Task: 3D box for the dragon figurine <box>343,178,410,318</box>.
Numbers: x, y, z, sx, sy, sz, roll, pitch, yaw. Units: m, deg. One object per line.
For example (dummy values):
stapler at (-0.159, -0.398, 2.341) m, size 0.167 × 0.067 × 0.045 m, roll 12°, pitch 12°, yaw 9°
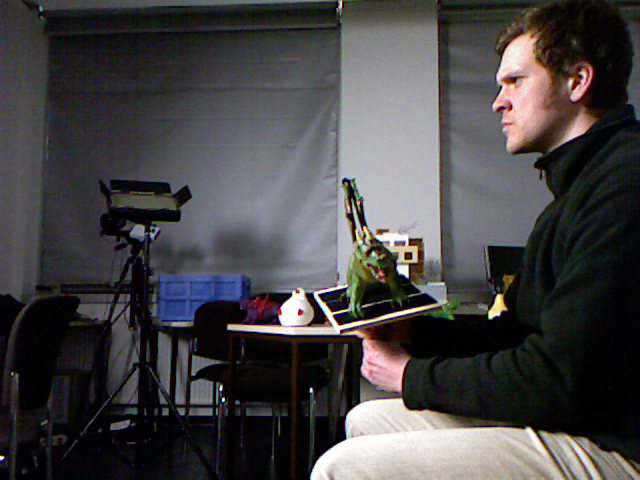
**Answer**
dragon figurine at (0.089, -0.008, 1.004) m, size 0.122 × 0.239 × 0.418 m, roll -11°, pitch 22°, yaw 1°
